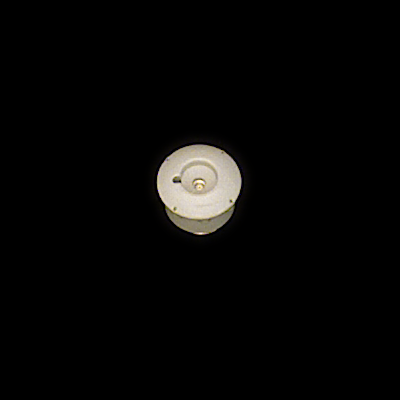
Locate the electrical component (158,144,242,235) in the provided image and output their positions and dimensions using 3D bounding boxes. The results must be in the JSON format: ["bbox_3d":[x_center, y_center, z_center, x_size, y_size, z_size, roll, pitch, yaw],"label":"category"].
[{"bbox_3d":[0.000,0.000,0.632,0.048,0.048,0.062,0,-27,0],"label":"electrical component"}]
